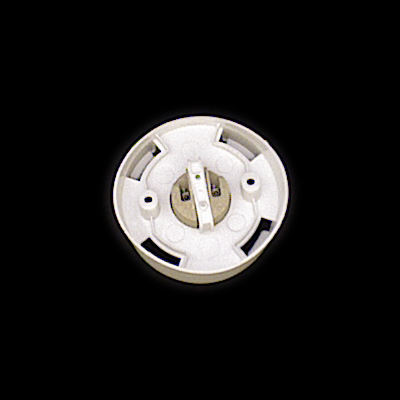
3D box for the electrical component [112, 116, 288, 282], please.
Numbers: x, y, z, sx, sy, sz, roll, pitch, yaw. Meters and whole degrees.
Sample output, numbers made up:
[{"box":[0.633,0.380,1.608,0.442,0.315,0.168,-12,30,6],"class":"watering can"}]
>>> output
[{"box":[0.000,0.000,0.623,0.099,0.099,0.064,0,-16,-1],"class":"electrical component"}]
